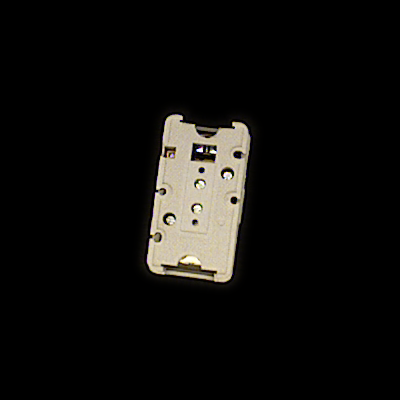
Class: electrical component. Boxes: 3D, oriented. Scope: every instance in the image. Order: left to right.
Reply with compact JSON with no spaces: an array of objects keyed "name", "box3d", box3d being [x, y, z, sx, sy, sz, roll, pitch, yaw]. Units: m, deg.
[{"name":"electrical component","box3d":[0.000,0.000,0.637,0.050,0.090,0.055,7,-6,2]}]
